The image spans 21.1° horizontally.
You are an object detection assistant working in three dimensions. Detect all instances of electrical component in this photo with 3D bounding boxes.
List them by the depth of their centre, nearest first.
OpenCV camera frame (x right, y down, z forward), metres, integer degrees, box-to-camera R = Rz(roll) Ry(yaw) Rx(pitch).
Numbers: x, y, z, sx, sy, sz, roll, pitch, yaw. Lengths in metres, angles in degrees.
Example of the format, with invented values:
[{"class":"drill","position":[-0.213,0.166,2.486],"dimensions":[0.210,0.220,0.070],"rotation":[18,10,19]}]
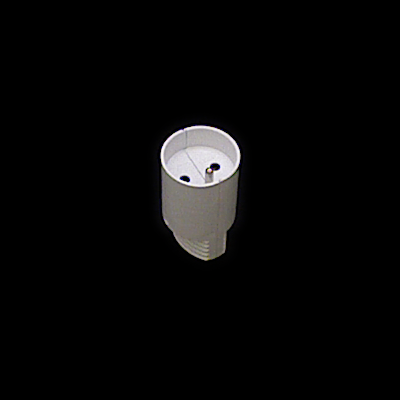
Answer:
[{"class":"electrical component","position":[0.000,0.000,0.619],"dimensions":[0.043,0.043,0.081],"rotation":[0,-37,0]}]
